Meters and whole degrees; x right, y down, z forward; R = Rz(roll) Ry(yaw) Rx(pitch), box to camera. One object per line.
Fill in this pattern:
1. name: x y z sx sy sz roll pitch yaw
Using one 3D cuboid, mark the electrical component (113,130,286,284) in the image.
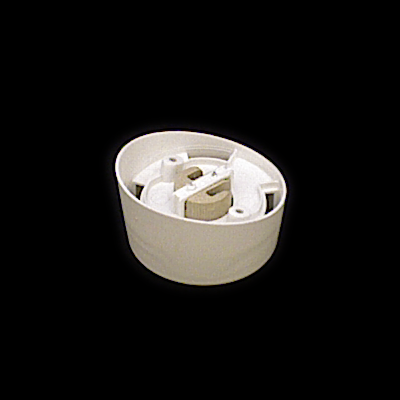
1. electrical component: 0.000 0.000 0.628 0.099 0.064 0.098 0 42 0
